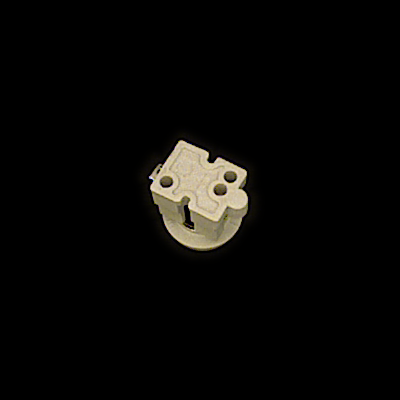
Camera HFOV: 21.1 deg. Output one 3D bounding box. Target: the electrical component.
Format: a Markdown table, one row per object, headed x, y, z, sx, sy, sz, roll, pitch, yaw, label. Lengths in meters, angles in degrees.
| x | y | z | sx | sy | sz | roll | pitch | yaw | label |
| --- | --- | --- | --- | --- | --- | --- | --- | --- | --- |
| 0.000 | 0.000 | 0.638 | 0.066 | 0.048 | 0.055 | 26 | -22 | 14 | electrical component |
